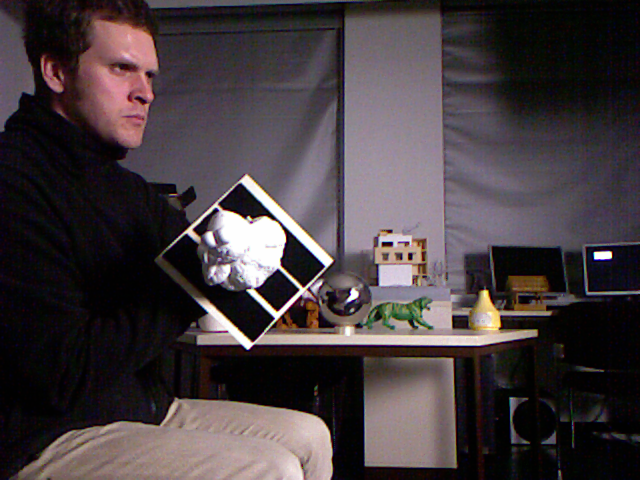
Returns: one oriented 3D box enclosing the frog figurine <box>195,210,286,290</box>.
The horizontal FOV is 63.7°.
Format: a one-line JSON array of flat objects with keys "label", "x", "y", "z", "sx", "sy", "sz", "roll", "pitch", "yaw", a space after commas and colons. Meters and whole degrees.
[{"label": "frog figurine", "x": -0.114, "y": 0.013, "z": 0.759, "sx": 0.138, "sy": 0.123, "sz": 0.159, "roll": -24, "pitch": -1, "yaw": -9}]
